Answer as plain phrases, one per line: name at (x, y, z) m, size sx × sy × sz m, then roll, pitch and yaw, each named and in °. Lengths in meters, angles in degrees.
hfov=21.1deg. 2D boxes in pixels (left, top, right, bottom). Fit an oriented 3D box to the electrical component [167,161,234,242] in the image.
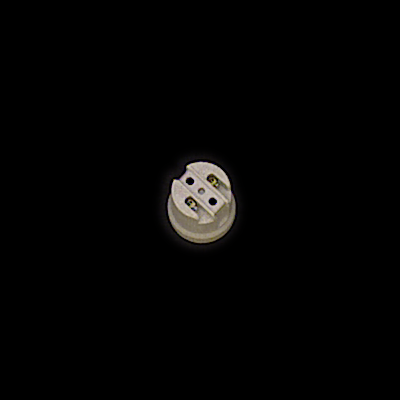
electrical component at (0.000, 0.000, 0.632) m, size 0.040 × 0.040 × 0.046 m, roll 0°, pitch -16°, yaw 1°
